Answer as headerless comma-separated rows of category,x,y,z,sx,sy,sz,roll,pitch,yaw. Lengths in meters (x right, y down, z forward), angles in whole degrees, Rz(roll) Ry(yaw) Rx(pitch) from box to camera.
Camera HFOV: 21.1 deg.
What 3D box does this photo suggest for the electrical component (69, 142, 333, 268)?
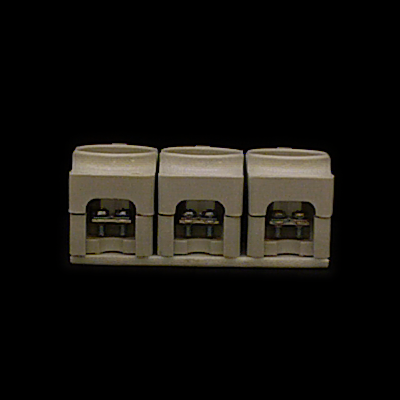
electrical component,0.000,0.000,0.652,0.150,0.062,0.088,2,10,0
